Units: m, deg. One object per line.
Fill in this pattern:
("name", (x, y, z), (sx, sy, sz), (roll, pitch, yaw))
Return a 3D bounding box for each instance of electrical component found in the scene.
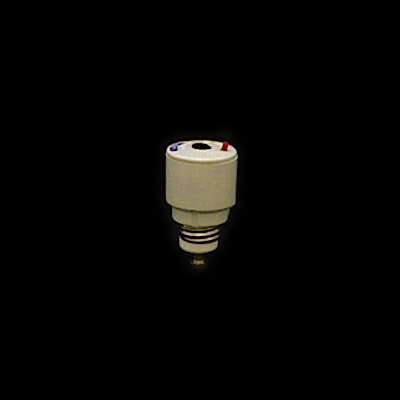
("electrical component", (0.000, 0.000, 0.634), (0.040, 0.079, 0.039), (1, 21, -1))
